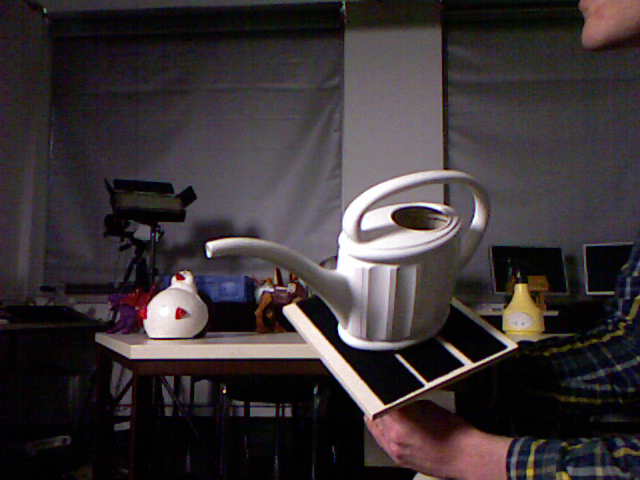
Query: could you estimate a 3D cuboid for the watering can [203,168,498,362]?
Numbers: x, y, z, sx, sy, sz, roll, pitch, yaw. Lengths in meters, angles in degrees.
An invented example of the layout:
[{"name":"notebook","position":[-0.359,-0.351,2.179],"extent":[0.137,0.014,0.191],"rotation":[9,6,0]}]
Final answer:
[{"name":"watering can","position":[0.050,0.036,0.562],"extent":[0.352,0.221,0.106],"rotation":[-15,35,-24]}]
